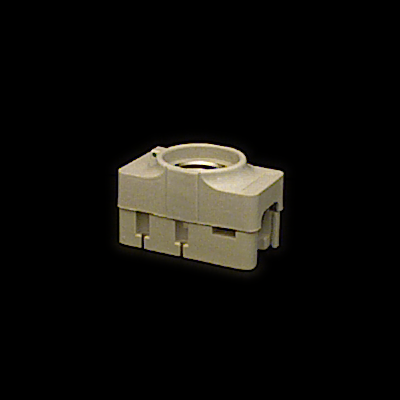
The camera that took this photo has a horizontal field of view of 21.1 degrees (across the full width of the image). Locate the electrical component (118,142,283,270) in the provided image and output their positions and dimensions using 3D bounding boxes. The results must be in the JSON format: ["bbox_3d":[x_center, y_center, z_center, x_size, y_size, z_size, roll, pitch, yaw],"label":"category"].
[{"bbox_3d":[0.000,0.000,0.647,0.089,0.056,0.050,11,24,22],"label":"electrical component"}]
